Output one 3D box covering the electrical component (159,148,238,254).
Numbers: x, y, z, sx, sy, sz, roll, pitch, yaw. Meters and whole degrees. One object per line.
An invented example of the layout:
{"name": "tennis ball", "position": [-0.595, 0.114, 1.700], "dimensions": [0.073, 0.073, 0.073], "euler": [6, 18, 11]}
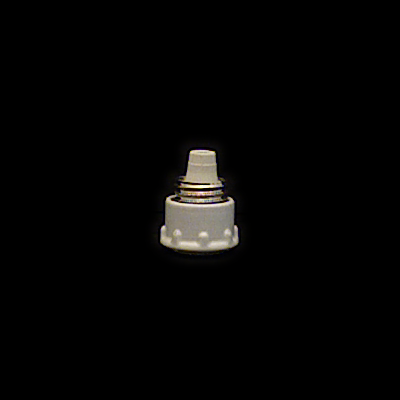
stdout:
{"name": "electrical component", "position": [0.000, 0.000, 0.652], "dimensions": [0.048, 0.062, 0.048], "euler": [2, 12, 0]}
